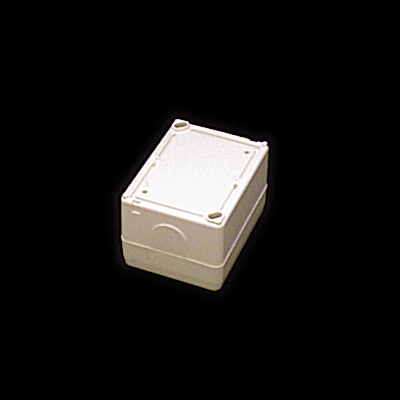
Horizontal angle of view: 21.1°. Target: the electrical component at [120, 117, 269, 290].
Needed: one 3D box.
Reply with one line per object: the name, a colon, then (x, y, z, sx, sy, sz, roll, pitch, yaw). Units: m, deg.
electrical component: (0.000, 0.000, 0.632, 0.061, 0.061, 0.095, 15, 43, 16)
